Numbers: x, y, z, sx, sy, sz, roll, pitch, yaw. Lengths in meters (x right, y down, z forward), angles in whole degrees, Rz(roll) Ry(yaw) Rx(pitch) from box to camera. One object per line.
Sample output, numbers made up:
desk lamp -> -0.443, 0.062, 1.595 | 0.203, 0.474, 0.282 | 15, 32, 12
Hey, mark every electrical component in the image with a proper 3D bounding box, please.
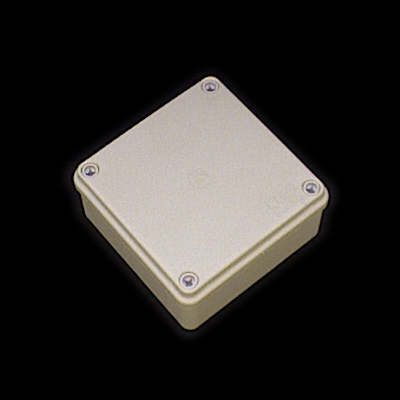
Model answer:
electrical component -> 0.000, 0.000, 0.629 | 0.109, 0.108, 0.056 | -36, -22, -17
